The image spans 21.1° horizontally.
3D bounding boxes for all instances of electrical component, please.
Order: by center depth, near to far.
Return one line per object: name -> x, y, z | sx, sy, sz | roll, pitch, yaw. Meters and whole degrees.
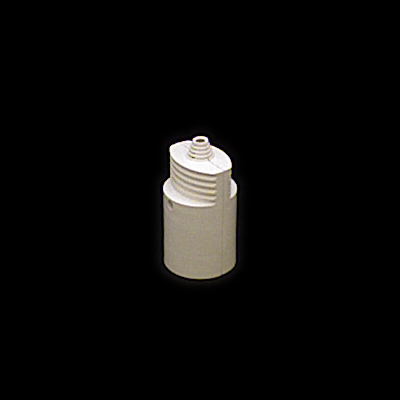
electrical component -> 0.000, 0.000, 0.629 | 0.043, 0.082, 0.042 | 1, 31, 0
